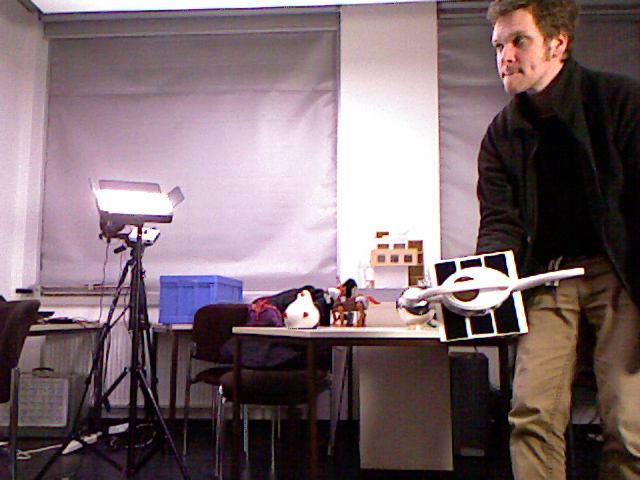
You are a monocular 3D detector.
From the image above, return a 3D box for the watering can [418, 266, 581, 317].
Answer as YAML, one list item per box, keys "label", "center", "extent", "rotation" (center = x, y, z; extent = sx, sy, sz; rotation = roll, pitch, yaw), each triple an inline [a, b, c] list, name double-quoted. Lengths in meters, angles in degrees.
- label: "watering can"
  center: [0.408, 0.116, 1.209]
  extent: [0.348, 0.106, 0.222]
  rotation: [-9, -15, 11]
